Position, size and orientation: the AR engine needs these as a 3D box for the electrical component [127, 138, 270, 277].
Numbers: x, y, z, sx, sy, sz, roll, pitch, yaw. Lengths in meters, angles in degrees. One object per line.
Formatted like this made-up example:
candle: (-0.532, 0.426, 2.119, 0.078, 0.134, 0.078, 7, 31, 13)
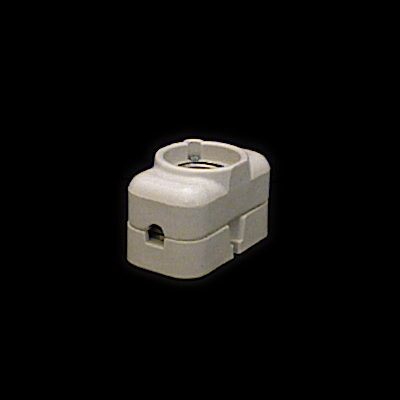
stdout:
electrical component: (0.000, 0.000, 0.646, 0.053, 0.060, 0.095, 15, 25, 29)
